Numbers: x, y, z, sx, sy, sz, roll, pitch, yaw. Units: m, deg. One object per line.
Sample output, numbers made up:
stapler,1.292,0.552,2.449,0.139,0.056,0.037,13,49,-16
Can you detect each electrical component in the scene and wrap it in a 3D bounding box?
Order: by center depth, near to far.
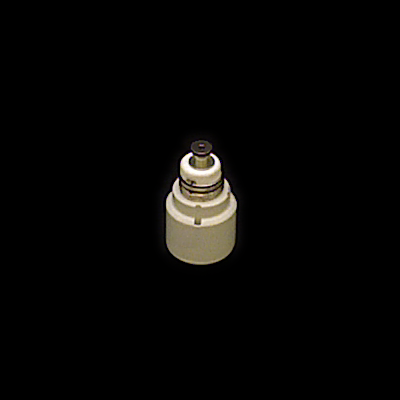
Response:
electrical component,0.000,0.000,0.623,0.040,0.079,0.039,0,41,0
